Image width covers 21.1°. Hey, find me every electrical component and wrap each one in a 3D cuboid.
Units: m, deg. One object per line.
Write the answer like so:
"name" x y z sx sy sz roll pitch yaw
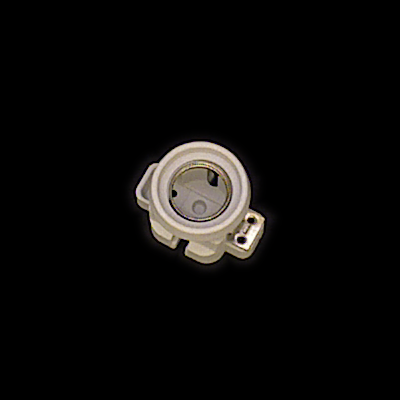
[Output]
"electrical component" 0.000 0.000 0.629 0.078 0.058 0.056 27 -15 8
